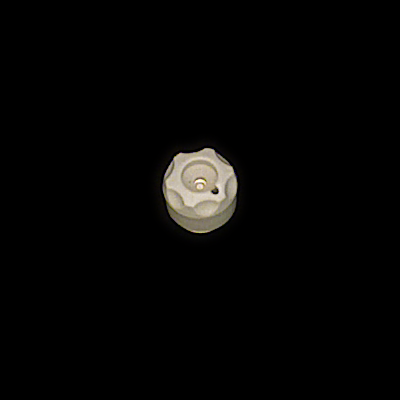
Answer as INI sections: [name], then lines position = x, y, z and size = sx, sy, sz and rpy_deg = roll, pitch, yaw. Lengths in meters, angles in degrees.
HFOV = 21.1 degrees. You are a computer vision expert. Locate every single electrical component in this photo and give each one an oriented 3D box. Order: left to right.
[electrical component]
position = 0.000, 0.000, 0.634
size = 0.043, 0.043, 0.062
rpy_deg = 0, -27, 1
